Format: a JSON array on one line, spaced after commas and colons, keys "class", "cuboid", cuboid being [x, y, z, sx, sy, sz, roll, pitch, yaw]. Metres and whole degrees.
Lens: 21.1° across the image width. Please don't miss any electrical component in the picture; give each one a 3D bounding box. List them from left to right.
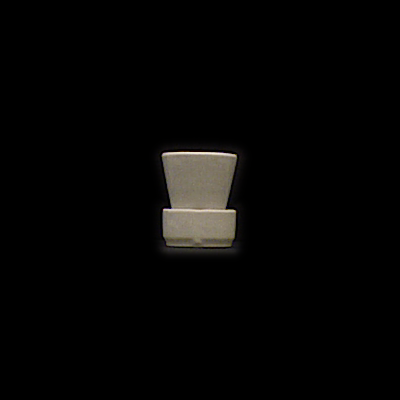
[{"class": "electrical component", "cuboid": [0.000, 0.000, 0.648, 0.045, 0.055, 0.045, 1, 0, 0]}]
